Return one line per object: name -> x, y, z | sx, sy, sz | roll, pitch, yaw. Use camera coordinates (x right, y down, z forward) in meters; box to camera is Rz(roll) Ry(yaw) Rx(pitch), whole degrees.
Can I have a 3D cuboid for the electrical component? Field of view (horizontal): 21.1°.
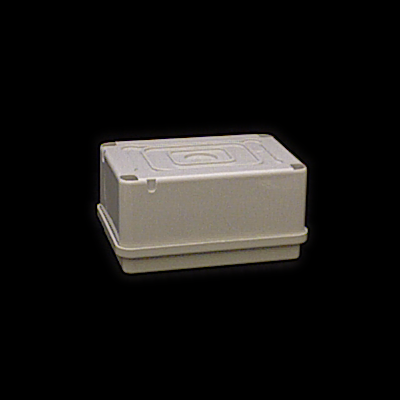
electrical component -> 0.000, 0.000, 0.640 | 0.113, 0.058, 0.077 | -4, 21, -14
